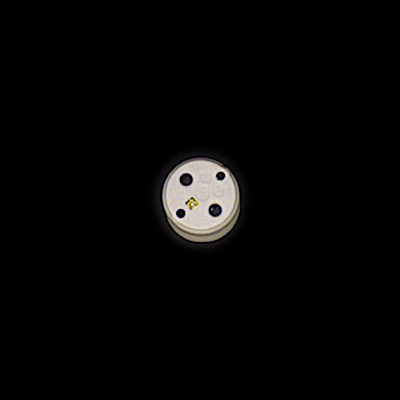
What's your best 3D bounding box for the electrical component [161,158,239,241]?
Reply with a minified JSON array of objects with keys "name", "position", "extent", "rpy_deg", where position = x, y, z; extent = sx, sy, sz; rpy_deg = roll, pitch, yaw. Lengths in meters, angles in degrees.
[{"name":"electrical component","position":[0.000,0.000,0.630],"extent":[0.045,0.045,0.055],"rpy_deg":[0,-7,0]}]
